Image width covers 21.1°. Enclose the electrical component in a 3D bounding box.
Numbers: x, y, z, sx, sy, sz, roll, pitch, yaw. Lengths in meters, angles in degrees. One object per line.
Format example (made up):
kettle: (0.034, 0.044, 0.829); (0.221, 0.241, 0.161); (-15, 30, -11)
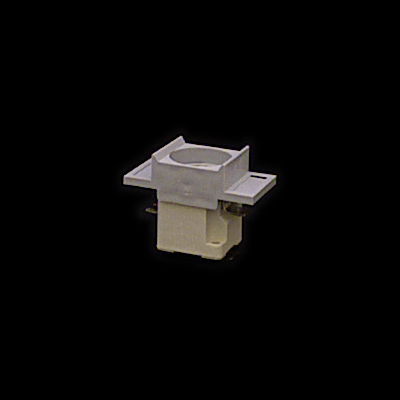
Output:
electrical component: (0.000, 0.000, 0.638); (0.080, 0.064, 0.042); (10, 24, 20)
